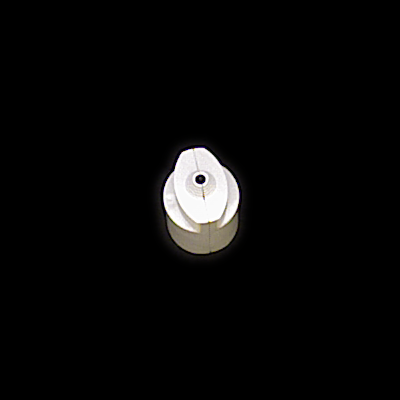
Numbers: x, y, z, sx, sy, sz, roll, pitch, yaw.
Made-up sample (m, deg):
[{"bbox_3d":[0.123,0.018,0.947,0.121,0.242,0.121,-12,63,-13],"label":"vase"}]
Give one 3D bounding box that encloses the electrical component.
[{"bbox_3d":[0.000,0.000,0.616,0.043,0.043,0.080,0,-17,1],"label":"electrical component"}]
